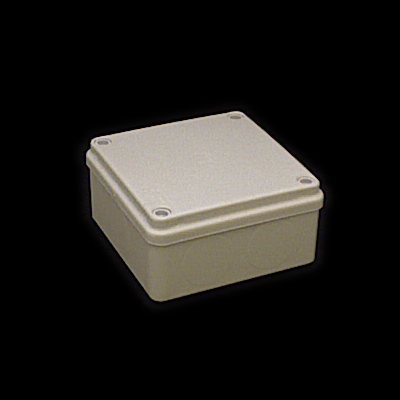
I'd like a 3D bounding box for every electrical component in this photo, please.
[{"bbox_3d":[0.000,0.000,0.637,0.109,0.057,0.107,-13,34,-22],"label":"electrical component"}]
